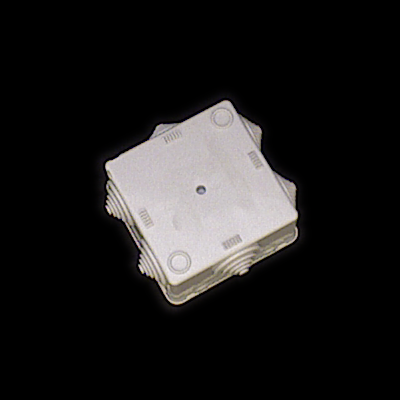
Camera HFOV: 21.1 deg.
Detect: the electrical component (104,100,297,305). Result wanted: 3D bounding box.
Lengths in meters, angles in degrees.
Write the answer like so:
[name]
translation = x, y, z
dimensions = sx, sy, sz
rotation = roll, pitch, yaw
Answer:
[electrical component]
translation = 0.000, 0.000, 0.632
dimensions = 0.100, 0.100, 0.048
rotation = -28, -15, -8
